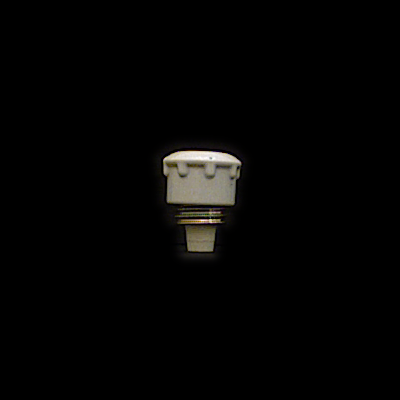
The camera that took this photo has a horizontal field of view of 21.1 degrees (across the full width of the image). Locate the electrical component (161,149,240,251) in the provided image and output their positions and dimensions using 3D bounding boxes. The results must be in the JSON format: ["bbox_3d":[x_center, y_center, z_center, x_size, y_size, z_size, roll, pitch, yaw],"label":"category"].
[{"bbox_3d":[0.000,0.000,0.658,0.048,0.062,0.048,2,2,1],"label":"electrical component"}]
